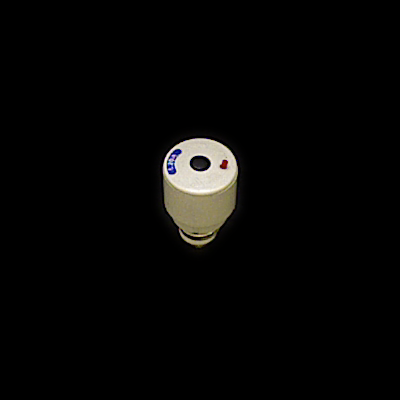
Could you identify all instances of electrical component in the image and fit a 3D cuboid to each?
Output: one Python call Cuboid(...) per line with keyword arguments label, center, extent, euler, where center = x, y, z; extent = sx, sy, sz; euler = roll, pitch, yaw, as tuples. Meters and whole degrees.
Cuboid(label="electrical component", center=(0.000, 0.000, 0.620), extent=(0.040, 0.040, 0.078), euler=(0, -38, -1))
